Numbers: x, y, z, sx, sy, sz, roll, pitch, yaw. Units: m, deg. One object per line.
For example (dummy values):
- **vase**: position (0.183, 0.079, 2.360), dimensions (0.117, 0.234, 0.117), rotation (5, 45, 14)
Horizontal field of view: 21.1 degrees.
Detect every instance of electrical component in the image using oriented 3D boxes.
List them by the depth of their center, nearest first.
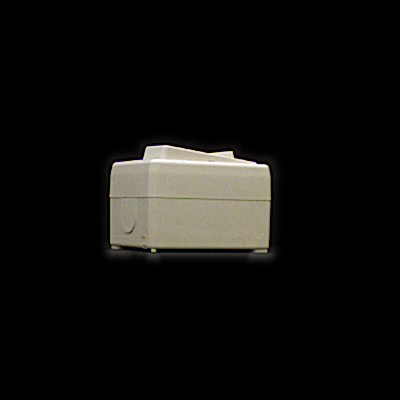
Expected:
- **electrical component**: position (0.000, 0.000, 0.651), dimensions (0.096, 0.061, 0.061), rotation (1, 0, -28)
